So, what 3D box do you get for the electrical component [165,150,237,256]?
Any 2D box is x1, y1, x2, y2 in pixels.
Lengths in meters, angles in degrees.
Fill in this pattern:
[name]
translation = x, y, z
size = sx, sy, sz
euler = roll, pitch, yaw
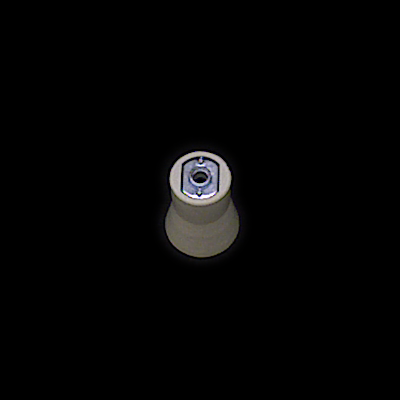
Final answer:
[electrical component]
translation = 0.000, 0.000, 0.625
size = 0.044, 0.044, 0.065
euler = 0, -27, 1
